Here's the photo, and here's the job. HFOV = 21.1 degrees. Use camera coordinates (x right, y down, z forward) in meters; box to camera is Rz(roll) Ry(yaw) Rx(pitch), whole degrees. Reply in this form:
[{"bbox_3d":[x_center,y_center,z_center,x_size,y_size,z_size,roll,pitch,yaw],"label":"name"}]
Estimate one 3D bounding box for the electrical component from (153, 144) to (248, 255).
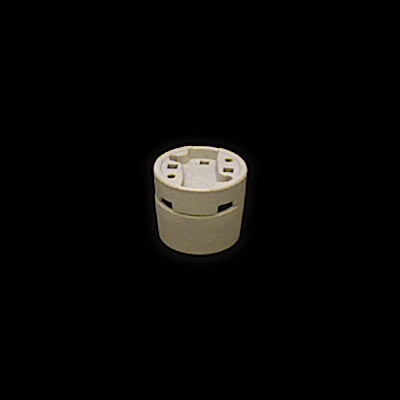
[{"bbox_3d":[0.000,0.000,0.639,0.055,0.047,0.055,1,32,0],"label":"electrical component"}]
